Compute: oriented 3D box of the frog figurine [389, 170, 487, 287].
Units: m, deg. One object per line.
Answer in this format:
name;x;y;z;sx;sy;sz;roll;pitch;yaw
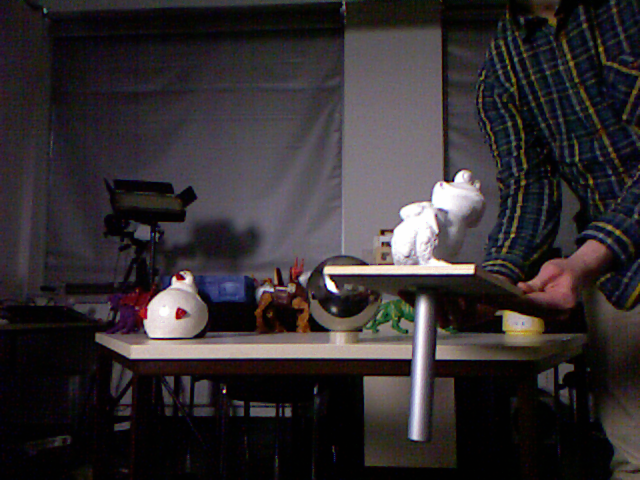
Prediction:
frog figurine;0.162;-0.023;0.709;0.136;0.161;0.122;20;-13;-42
